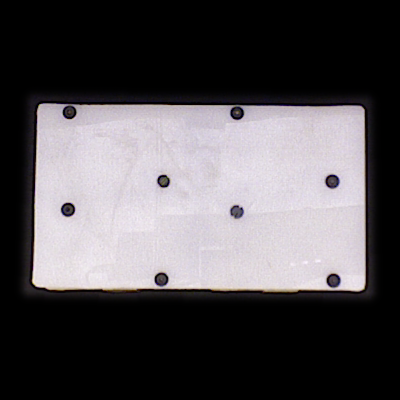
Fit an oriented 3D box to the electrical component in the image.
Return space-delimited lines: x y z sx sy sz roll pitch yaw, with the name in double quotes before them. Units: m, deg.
"electrical component" 0.000 0.000 0.626 0.186 0.106 0.060 0 -7 0
